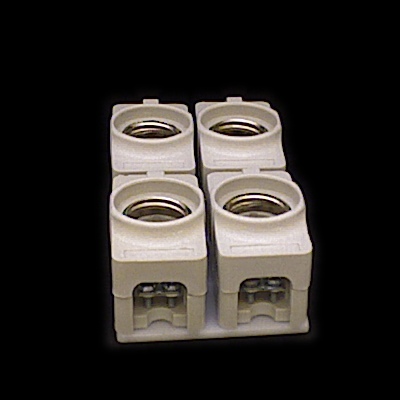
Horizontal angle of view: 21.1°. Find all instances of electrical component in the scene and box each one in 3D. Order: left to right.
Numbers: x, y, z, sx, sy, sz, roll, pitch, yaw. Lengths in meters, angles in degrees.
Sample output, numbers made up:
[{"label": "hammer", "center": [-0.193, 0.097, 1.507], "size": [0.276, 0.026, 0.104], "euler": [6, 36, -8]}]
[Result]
[{"label": "electrical component", "center": [0.000, 0.000, 0.634], "size": [0.105, 0.061, 0.183], "euler": [-2, 31, -4]}]
